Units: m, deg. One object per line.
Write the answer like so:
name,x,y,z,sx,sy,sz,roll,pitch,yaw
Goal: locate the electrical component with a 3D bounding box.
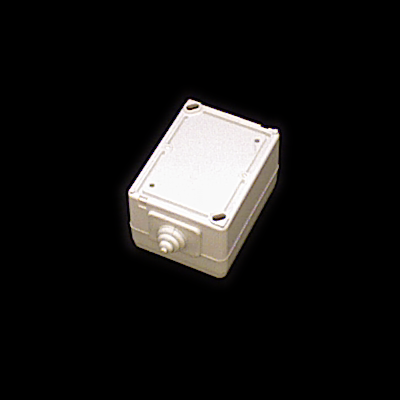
electrical component,0.000,0.000,0.629,0.061,0.096,0.061,20,-34,15
